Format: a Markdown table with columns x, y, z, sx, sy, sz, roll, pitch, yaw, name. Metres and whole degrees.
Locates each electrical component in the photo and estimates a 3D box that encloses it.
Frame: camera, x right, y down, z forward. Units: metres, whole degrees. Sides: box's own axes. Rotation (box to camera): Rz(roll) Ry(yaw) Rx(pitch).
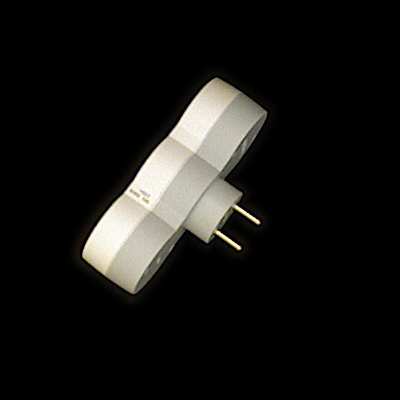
| x | y | z | sx | sy | sz | roll | pitch | yaw | name |
| --- | --- | --- | --- | --- | --- | --- | --- | --- | --- |
| 0.000 | 0.000 | 0.637 | 0.073 | 0.139 | 0.052 | 35 | -13 | 8 | electrical component |
